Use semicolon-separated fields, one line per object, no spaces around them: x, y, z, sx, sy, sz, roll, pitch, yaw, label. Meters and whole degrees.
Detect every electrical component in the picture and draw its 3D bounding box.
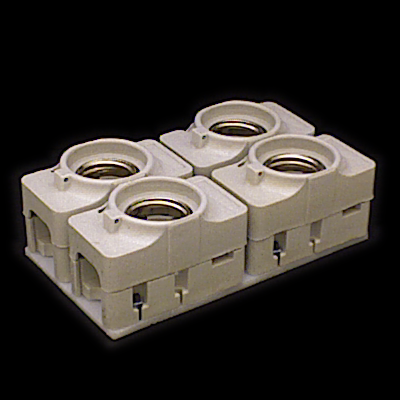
0.000;0.000;0.633;0.186;0.061;0.104;-19;37;-29;electrical component
